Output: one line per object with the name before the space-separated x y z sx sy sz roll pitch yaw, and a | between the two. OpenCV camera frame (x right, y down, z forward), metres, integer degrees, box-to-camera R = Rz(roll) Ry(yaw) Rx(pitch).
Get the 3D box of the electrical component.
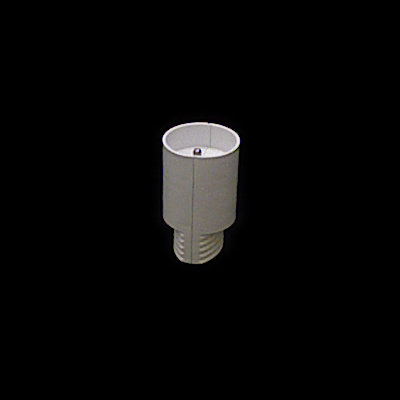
electrical component | 0.000 0.000 0.626 0.043 0.082 0.042 0 32 0
